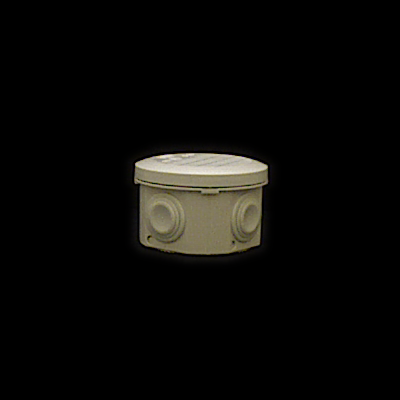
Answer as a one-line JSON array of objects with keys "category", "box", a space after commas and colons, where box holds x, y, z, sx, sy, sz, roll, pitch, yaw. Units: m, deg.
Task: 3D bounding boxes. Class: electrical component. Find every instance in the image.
[{"category": "electrical component", "box": [0.000, 0.000, 0.648, 0.080, 0.051, 0.079, 1, 10, 0]}]
